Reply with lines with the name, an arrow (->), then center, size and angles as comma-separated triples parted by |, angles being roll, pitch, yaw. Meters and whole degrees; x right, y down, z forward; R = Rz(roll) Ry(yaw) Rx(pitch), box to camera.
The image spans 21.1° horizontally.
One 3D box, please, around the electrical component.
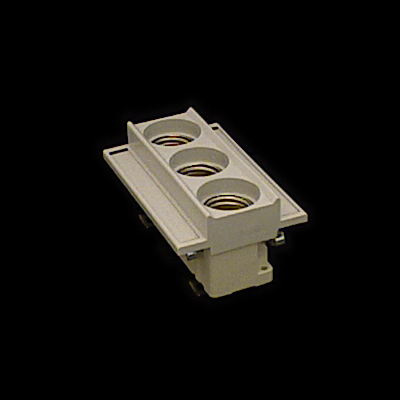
electrical component -> 0.000, 0.000, 0.645 | 0.079, 0.064, 0.119 | -14, 35, -19
